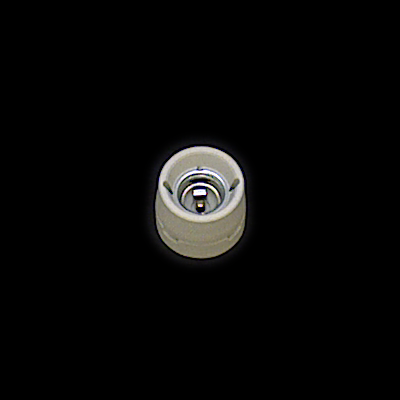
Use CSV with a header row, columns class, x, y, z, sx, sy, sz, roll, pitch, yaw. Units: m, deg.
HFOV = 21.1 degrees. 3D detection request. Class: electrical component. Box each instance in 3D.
class,x,y,z,sx,sy,sz,roll,pitch,yaw
electrical component,0.000,0.000,0.633,0.055,0.056,0.047,0,-27,-1
